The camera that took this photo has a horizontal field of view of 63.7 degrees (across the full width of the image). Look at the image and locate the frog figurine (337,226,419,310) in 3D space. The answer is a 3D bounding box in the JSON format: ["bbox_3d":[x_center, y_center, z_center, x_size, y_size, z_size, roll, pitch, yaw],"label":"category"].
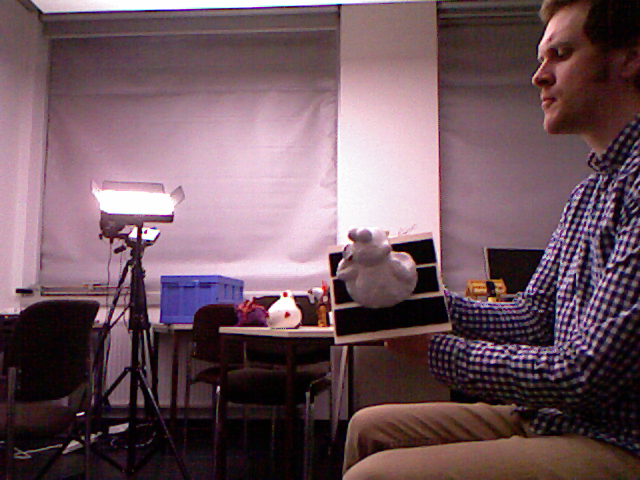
[{"bbox_3d":[0.097,0.046,0.876,0.138,0.125,0.156,7,-27,15],"label":"frog figurine"}]
